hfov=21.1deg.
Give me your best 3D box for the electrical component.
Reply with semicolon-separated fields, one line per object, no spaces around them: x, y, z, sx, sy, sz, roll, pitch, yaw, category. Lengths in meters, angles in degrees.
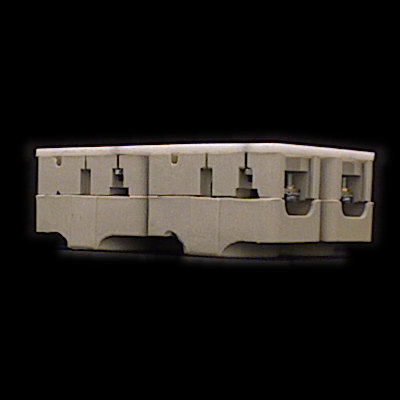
0.000;0.000;0.650;0.186;0.060;0.106;1;0;39;electrical component
